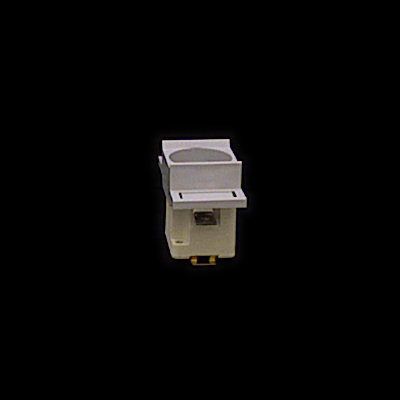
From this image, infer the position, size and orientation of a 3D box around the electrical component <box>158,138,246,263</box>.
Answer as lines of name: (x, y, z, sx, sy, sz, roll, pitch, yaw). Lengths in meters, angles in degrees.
electrical component: (0.000, 0.000, 0.640, 0.042, 0.064, 0.079, -3, 22, -7)
